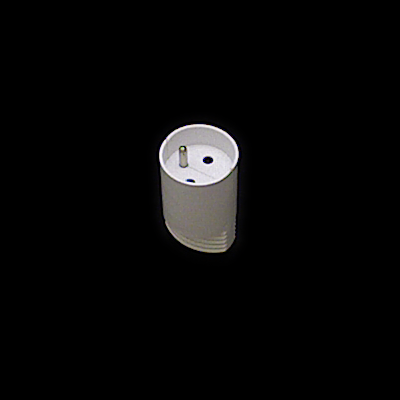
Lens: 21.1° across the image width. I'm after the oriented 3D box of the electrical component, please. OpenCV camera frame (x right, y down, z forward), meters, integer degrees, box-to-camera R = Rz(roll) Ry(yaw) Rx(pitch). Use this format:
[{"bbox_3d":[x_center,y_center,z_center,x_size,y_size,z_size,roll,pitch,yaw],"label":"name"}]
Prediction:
[{"bbox_3d":[0.000,0.000,0.618,0.043,0.043,0.081,0,-39,0],"label":"electrical component"}]
